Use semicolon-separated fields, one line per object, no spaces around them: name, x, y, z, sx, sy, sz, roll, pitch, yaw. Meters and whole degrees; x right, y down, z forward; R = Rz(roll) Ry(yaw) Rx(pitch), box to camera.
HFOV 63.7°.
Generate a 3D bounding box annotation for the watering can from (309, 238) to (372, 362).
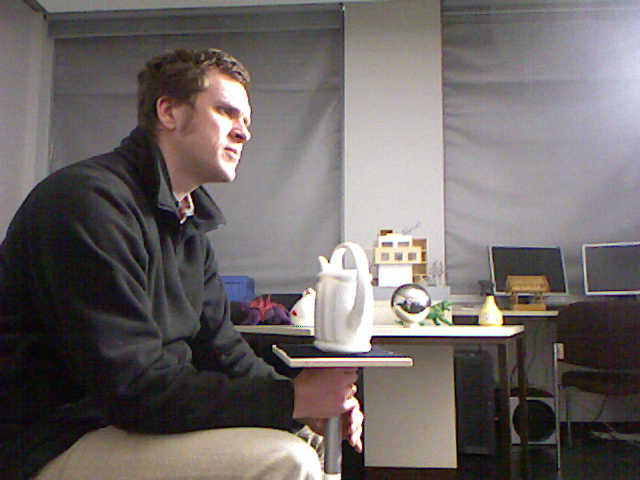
watering can;0.030;0.108;0.964;0.104;0.225;0.347;3;-1;-13
